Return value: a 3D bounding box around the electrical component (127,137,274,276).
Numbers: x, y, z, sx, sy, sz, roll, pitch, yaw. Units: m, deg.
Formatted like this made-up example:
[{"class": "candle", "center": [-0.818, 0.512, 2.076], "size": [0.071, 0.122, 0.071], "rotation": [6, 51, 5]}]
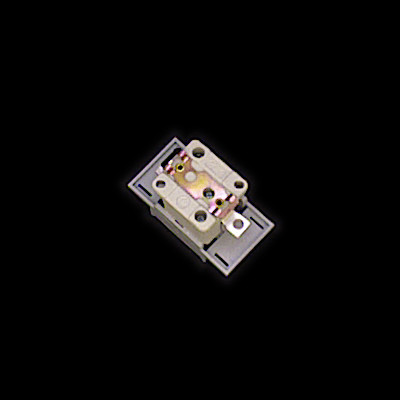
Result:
[{"class": "electrical component", "center": [0.000, 0.000, 0.625], "size": [0.081, 0.042, 0.063], "rotation": [41, -12, 11]}]
